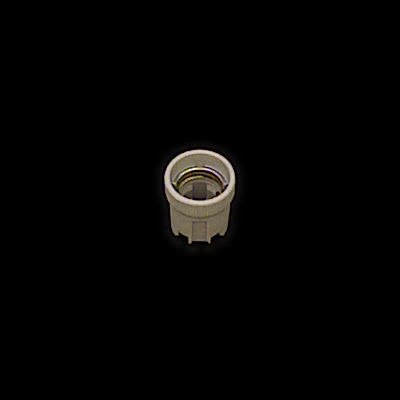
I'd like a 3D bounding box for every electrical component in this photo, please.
[{"bbox_3d":[0.000,0.000,0.629,0.040,0.040,0.046,0,-38,-1],"label":"electrical component"}]
